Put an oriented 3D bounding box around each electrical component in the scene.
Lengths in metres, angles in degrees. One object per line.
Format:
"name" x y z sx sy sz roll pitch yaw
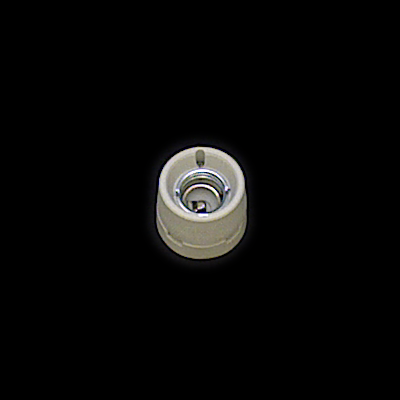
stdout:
"electrical component" 0.000 0.000 0.633 0.055 0.055 0.047 0 -28 0
